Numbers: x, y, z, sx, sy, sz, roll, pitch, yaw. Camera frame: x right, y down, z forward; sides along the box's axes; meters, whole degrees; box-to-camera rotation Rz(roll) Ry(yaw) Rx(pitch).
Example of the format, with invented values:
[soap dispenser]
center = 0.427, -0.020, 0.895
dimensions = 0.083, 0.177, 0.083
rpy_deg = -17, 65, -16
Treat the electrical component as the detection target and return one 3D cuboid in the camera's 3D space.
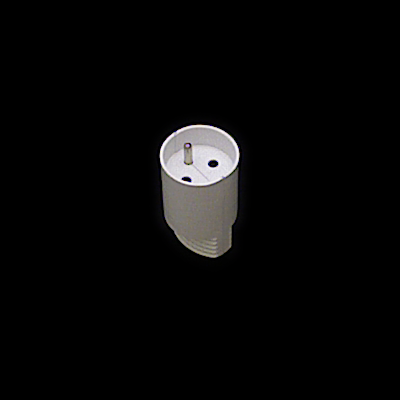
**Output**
[electrical component]
center = 0.000, 0.000, 0.619
dimensions = 0.043, 0.043, 0.081
rpy_deg = 0, -39, 0
